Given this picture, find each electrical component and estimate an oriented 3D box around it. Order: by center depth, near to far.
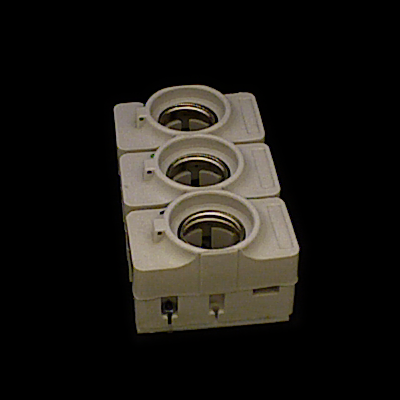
[{"bbox_3d":[0.000,0.000,0.636,0.090,0.063,0.147,-5,42,-6],"label":"electrical component"}]
